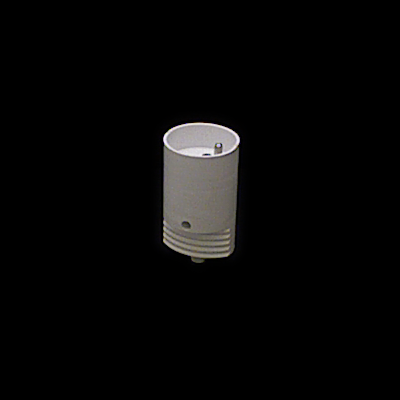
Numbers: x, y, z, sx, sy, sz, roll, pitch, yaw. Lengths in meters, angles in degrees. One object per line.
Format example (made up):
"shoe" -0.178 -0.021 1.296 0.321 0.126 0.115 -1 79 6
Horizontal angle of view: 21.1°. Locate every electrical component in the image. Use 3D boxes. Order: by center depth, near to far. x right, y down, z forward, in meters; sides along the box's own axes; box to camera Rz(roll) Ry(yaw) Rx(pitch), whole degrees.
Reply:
"electrical component" 0.000 0.000 0.630 0.043 0.082 0.042 1 32 -1
